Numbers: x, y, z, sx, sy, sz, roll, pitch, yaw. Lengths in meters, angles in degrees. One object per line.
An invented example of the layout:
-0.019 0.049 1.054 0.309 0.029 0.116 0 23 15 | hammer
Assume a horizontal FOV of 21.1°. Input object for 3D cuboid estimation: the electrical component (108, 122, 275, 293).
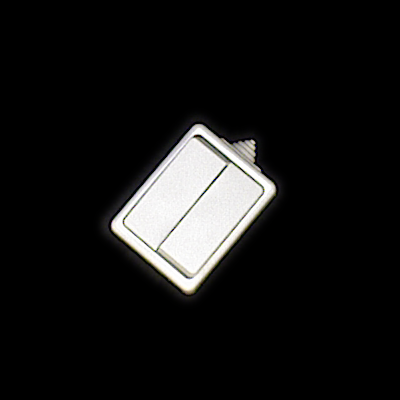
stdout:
0.000 0.000 0.627 0.062 0.096 0.061 40 -5 5 | electrical component
